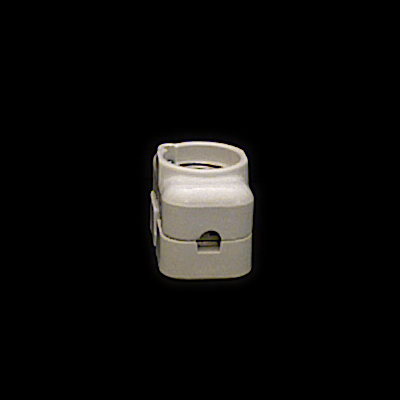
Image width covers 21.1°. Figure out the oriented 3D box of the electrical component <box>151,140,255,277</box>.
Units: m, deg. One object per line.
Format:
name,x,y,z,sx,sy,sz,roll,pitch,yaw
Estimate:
electrical component,0.000,0.000,0.645,0.054,0.060,0.093,-2,21,-8
